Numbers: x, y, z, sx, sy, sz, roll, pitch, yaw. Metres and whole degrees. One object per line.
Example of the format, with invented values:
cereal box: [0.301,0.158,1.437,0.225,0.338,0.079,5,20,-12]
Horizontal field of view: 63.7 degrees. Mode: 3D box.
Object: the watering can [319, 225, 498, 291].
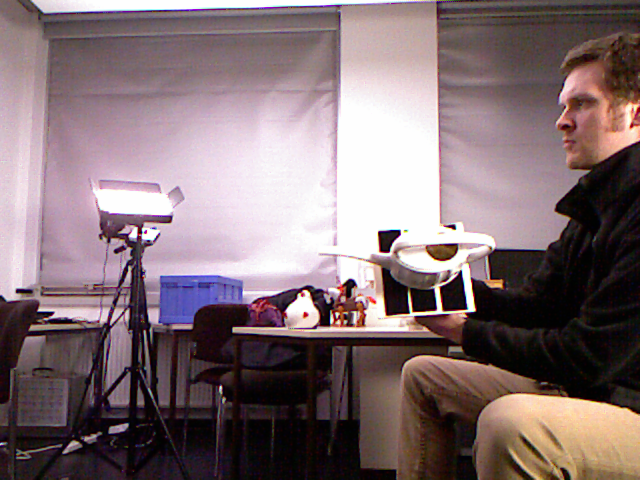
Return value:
watering can: [0.177,0.035,1.050,0.348,0.106,0.221,-3,-21,2]
